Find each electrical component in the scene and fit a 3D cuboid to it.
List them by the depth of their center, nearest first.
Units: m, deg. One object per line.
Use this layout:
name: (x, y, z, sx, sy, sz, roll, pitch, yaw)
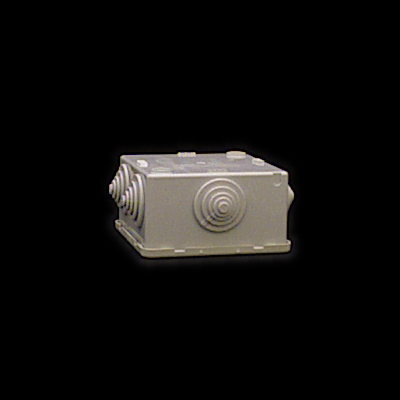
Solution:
electrical component: (0.000, 0.000, 0.644, 0.100, 0.049, 0.099, -2, 11, -15)
